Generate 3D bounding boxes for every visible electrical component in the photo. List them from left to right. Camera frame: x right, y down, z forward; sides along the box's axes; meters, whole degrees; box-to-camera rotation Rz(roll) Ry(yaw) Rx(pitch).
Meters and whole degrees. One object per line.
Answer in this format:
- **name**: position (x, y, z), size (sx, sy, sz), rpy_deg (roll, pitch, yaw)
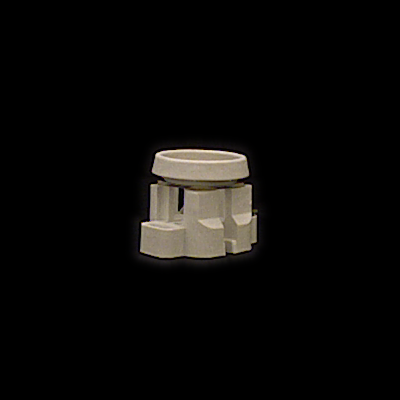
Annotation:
- **electrical component**: position (0.000, 0.000, 0.646), size (0.078, 0.057, 0.057), rpy_deg (-8, 14, -42)
